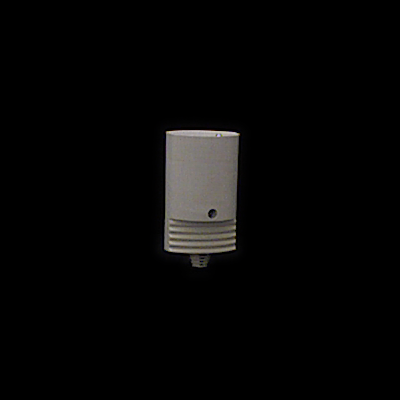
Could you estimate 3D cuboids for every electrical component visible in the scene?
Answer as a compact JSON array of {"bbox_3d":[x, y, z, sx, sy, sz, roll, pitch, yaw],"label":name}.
[{"bbox_3d":[0.000,0.000,0.644,0.043,0.082,0.042,2,11,0],"label":"electrical component"}]
